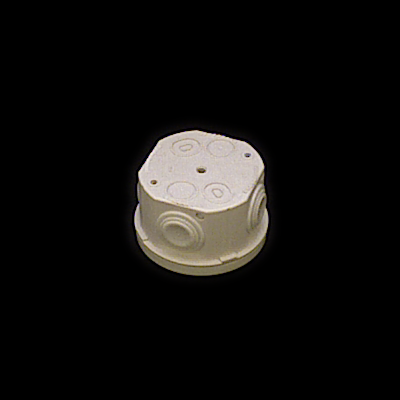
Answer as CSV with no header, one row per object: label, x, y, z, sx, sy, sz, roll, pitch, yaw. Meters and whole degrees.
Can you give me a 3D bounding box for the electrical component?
electrical component,0.000,0.000,0.633,0.080,0.051,0.080,0,43,0
